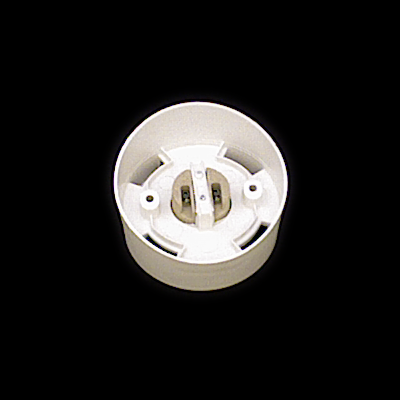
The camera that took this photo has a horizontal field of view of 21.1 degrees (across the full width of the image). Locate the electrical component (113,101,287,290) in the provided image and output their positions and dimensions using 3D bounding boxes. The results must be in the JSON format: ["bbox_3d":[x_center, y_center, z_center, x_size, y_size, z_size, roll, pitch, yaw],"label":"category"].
[{"bbox_3d":[0.000,0.000,0.626,0.099,0.098,0.064,0,-38,0],"label":"electrical component"}]
